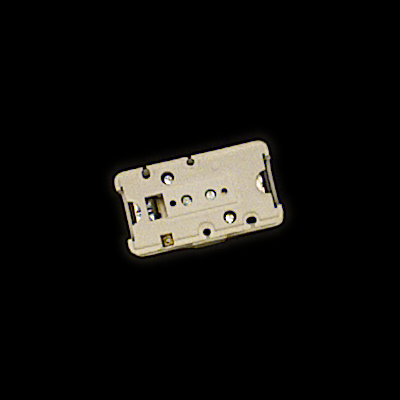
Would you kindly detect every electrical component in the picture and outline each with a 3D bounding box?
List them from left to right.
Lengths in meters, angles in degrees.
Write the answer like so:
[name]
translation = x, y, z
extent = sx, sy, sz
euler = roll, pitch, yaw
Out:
[electrical component]
translation = 0.000, 0.000, 0.637
extent = 0.090, 0.050, 0.055
euler = -13, -5, -1
